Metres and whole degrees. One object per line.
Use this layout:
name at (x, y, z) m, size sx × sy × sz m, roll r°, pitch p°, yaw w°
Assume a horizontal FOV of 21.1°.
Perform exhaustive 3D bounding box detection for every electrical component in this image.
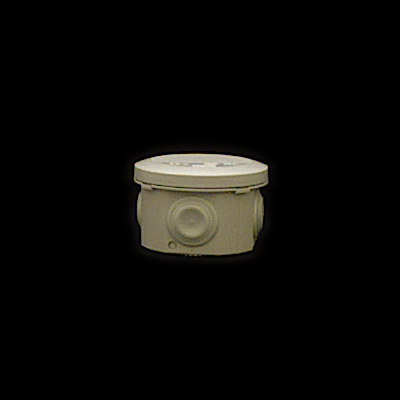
electrical component at (0.000, 0.000, 0.644) m, size 0.080 × 0.051 × 0.079 m, roll 1°, pitch 10°, yaw 0°
